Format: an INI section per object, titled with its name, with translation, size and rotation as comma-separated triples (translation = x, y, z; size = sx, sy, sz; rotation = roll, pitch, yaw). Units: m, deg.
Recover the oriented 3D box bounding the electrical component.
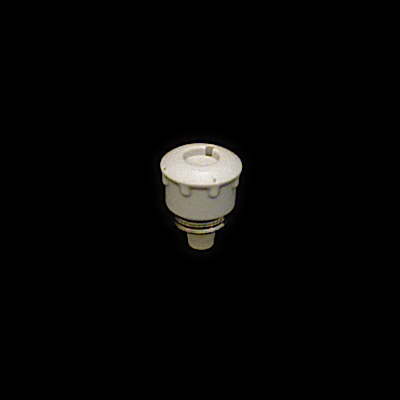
[electrical component]
translation = 0.000, 0.000, 0.642
size = 0.048, 0.063, 0.047
rotation = 1, 32, 0
